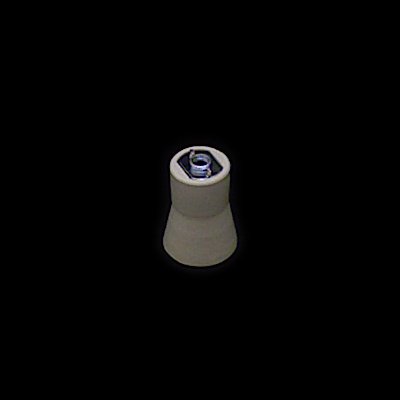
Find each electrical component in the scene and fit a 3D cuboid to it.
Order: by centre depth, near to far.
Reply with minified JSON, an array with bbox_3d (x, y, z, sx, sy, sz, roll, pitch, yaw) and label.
[{"bbox_3d":[0.000,0.000,0.629,0.044,0.066,0.044,0,43,0],"label":"electrical component"}]
